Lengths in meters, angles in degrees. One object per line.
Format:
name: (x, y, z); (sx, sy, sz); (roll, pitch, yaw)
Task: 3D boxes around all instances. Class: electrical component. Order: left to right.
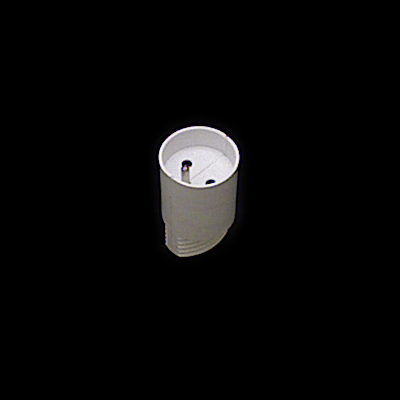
electrical component: (0.000, 0.000, 0.617); (0.043, 0.043, 0.081); (0, -38, 1)
